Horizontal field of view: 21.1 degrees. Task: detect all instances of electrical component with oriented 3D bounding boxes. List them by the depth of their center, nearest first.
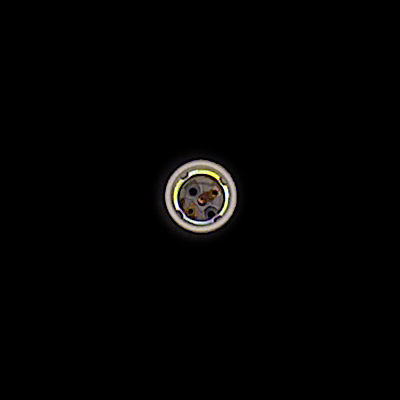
[{"bbox_3d":[0.000,0.000,0.627,0.040,0.040,0.046,0,-6,0],"label":"electrical component"}]
